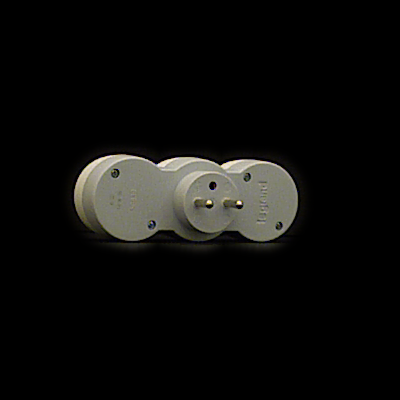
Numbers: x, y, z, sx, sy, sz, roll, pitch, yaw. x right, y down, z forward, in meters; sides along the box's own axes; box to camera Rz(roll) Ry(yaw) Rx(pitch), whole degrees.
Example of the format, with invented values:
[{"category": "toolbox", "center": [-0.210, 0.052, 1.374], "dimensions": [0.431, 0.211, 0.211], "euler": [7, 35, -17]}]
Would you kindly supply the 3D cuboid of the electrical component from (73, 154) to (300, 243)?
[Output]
[{"category": "electrical component", "center": [0.000, 0.000, 0.653], "dimensions": [0.139, 0.052, 0.073], "euler": [1, 2, -25]}]
